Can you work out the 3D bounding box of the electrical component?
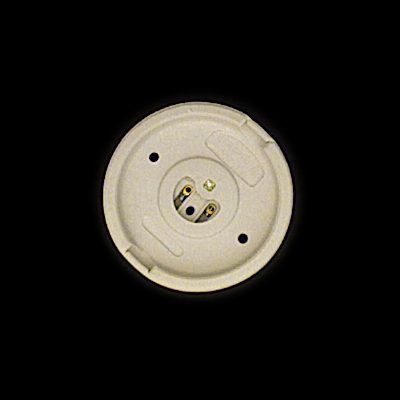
[{"bbox_3d":[0.000,0.000,0.636,0.108,0.108,0.060,0,-6,0],"label":"electrical component"}]
